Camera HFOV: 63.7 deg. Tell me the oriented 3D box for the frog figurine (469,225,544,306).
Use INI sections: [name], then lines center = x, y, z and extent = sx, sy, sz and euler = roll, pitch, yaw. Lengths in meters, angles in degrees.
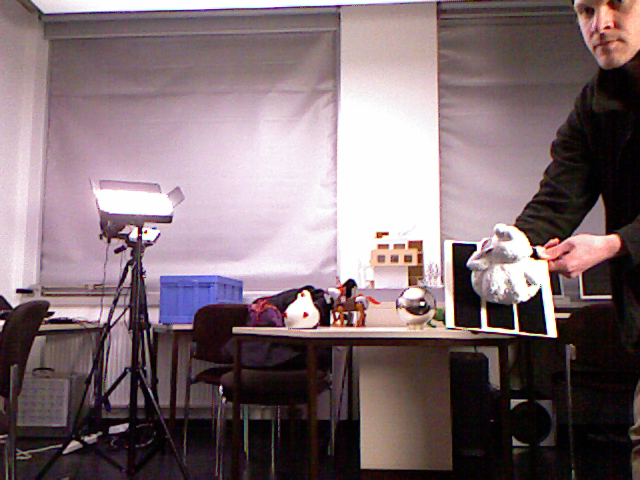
[frog figurine]
center = 0.359, 0.051, 0.985
extent = 0.138, 0.125, 0.156
euler = 22, -29, 14
